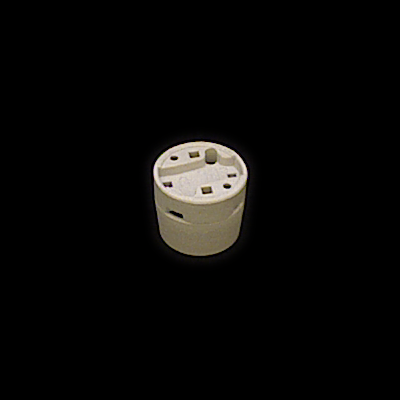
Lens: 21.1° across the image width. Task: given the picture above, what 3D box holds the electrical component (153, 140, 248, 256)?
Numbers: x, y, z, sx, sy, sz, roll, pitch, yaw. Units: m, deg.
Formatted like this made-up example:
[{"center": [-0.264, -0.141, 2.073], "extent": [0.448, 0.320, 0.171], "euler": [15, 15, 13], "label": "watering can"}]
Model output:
[{"center": [0.000, 0.000, 0.637], "extent": [0.055, 0.047, 0.055], "euler": [0, 42, 0], "label": "electrical component"}]
